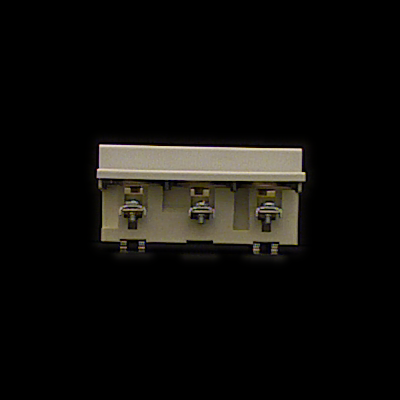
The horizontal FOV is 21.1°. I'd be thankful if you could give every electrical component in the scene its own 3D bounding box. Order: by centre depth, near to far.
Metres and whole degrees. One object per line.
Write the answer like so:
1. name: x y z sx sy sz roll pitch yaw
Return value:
1. electrical component: 0.000 0.000 0.663 0.121 0.063 0.078 1 -1 -2
